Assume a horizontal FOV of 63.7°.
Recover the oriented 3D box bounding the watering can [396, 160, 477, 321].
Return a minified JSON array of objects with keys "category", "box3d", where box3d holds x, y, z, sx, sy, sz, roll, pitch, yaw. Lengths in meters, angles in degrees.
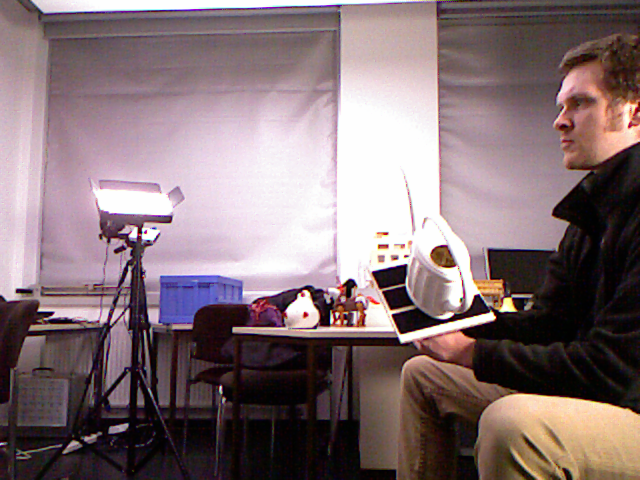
[{"category":"watering can","box3d":[0.222,0.018,1.055,0.104,0.356,0.219,-10,-38,-12]}]
